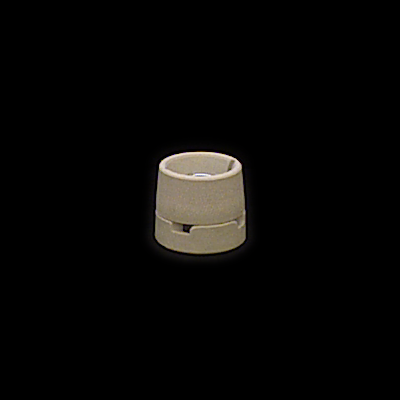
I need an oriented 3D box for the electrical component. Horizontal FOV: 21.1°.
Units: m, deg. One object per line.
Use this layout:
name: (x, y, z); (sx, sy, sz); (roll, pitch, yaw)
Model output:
electrical component: (0.000, 0.000, 0.641); (0.055, 0.047, 0.055); (0, 21, 0)
